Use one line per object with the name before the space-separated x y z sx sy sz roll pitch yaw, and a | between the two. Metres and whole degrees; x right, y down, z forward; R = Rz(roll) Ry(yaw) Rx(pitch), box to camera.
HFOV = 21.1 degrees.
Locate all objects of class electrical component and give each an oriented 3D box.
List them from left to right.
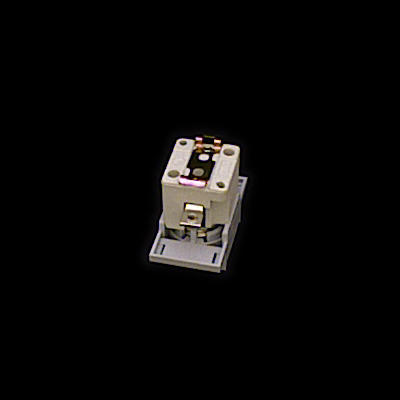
electrical component | 0.000 0.000 0.630 0.042 0.064 0.080 9 43 9
